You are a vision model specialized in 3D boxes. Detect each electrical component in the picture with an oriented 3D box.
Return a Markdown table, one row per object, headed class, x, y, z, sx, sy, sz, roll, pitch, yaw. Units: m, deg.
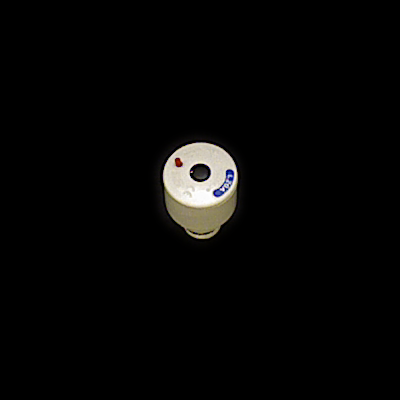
| class | x | y | z | sx | sy | sz | roll | pitch | yaw |
| --- | --- | --- | --- | --- | --- | --- | --- | --- | --- |
| electrical component | 0.000 | 0.000 | 0.619 | 0.040 | 0.040 | 0.078 | 0 | -27 | 1 |
